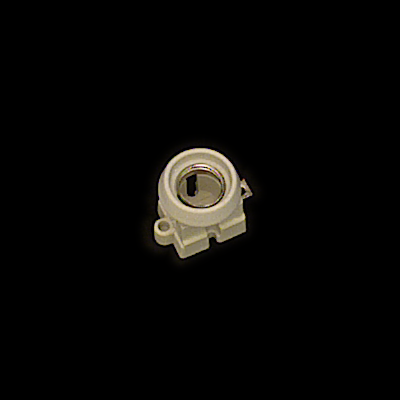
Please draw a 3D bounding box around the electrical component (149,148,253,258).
[{"bbox_3d":[0.000,0.000,0.638,0.067,0.048,0.055,-24,-22,-11],"label":"electrical component"}]
